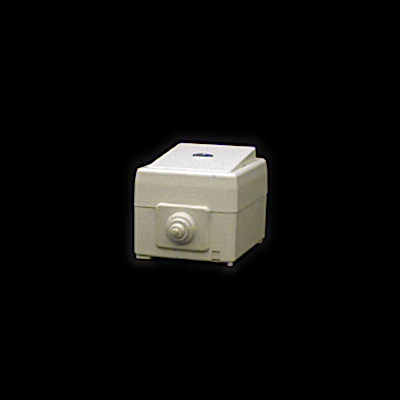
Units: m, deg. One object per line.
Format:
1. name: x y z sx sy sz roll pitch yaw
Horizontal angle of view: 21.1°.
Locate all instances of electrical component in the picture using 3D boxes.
1. electrical component: 0.000 0.000 0.642 0.061 0.061 0.095 4 11 16
